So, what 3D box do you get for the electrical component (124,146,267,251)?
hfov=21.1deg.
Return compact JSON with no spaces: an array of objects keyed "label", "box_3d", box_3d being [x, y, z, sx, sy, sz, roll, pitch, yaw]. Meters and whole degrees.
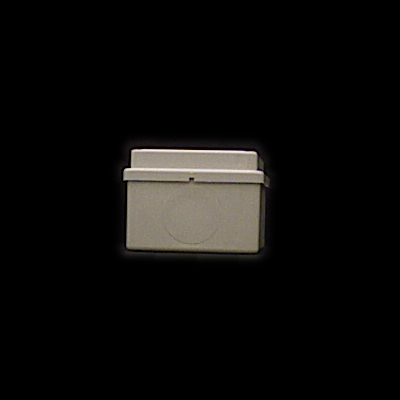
[{"label":"electrical component","box_3d":[0.000,0.000,0.649,0.078,0.057,0.113,1,0,5]}]
